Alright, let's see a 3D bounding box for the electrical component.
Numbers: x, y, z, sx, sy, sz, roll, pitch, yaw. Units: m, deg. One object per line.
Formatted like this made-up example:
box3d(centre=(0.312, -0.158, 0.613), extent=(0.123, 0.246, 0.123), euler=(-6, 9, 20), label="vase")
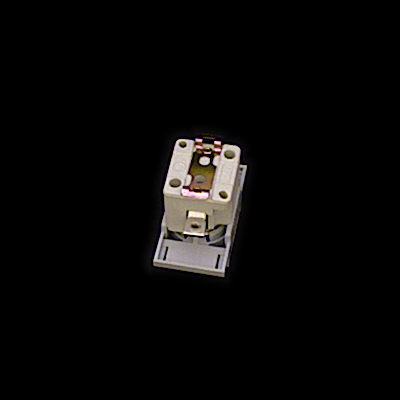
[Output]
box3d(centre=(0.000, 0.000, 0.627), extent=(0.042, 0.080, 0.064), euler=(8, -37, 6), label="electrical component")
